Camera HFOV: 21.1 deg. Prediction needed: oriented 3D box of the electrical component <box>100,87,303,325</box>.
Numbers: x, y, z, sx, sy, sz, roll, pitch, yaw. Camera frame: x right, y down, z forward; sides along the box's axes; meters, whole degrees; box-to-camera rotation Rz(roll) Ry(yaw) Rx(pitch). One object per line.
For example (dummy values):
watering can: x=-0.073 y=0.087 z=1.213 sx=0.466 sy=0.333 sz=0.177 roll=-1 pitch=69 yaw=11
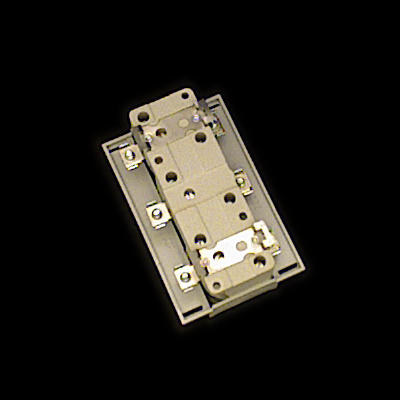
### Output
electrical component: x=0.000 y=0.000 z=0.634 sx=0.079 sy=0.121 sz=0.063 roll=-24 pitch=-15 yaw=-7
